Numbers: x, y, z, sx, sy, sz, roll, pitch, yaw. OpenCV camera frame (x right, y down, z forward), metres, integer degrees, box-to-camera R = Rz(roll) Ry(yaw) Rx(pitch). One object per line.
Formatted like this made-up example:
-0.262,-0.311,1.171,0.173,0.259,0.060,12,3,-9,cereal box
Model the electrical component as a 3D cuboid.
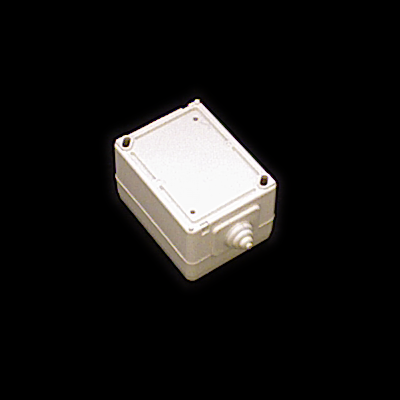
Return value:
0.000,0.000,0.627,0.062,0.096,0.061,-29,-32,-21,electrical component
